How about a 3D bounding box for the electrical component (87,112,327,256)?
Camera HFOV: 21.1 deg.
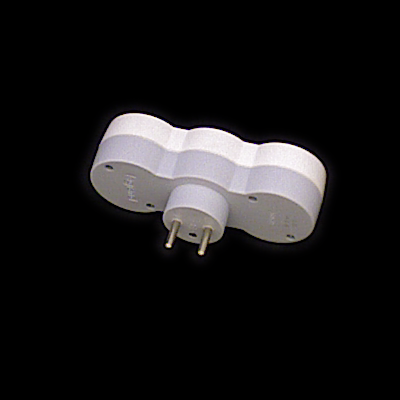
[{"bbox_3d":[0.000,0.000,0.632,0.138,0.073,0.052,12,-35,8],"label":"electrical component"}]
